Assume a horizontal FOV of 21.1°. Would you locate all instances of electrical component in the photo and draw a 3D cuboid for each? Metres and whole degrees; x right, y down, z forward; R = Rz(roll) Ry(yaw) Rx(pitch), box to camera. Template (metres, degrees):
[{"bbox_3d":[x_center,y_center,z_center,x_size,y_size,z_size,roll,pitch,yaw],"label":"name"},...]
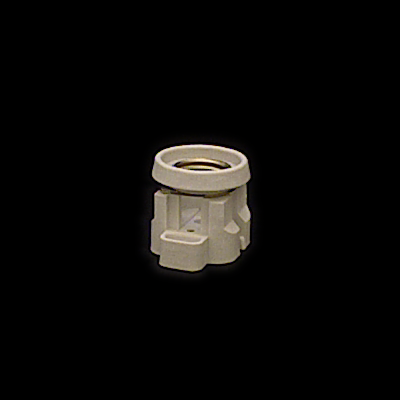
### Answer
[{"bbox_3d":[0.000,0.000,0.641,0.057,0.057,0.078,8,22,18],"label":"electrical component"}]
